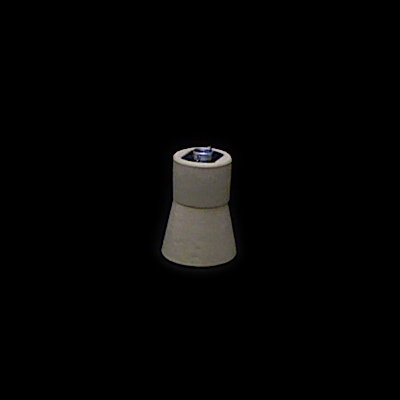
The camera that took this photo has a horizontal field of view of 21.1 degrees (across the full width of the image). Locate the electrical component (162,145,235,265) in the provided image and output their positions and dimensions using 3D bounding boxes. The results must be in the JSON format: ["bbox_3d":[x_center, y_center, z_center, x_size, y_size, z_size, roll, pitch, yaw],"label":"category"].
[{"bbox_3d":[0.000,0.000,0.637,0.044,0.066,0.044,2,21,-1],"label":"electrical component"}]
